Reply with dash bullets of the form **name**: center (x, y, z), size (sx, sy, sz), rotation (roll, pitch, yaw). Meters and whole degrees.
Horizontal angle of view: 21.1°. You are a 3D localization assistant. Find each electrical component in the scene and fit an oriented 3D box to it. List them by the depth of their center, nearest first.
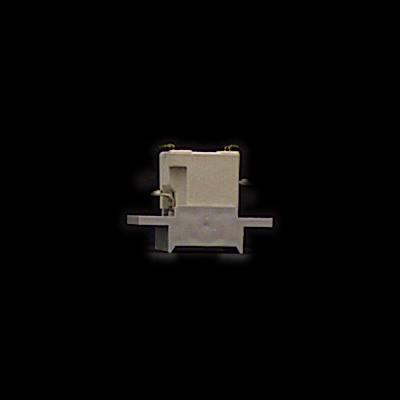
- **electrical component**: center (0.000, 0.000, 0.649), size (0.081, 0.064, 0.042), rotation (1, 1, -14)
